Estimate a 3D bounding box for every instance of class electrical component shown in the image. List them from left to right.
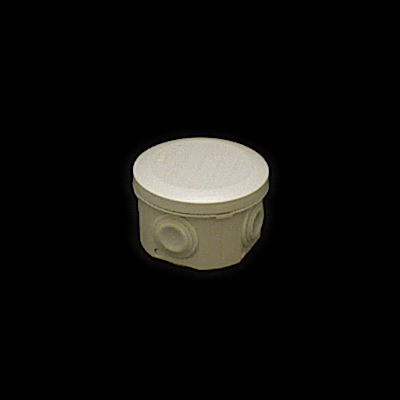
[{"bbox_3d":[0.000,0.000,0.639,0.080,0.051,0.079,1,31,0],"label":"electrical component"}]
